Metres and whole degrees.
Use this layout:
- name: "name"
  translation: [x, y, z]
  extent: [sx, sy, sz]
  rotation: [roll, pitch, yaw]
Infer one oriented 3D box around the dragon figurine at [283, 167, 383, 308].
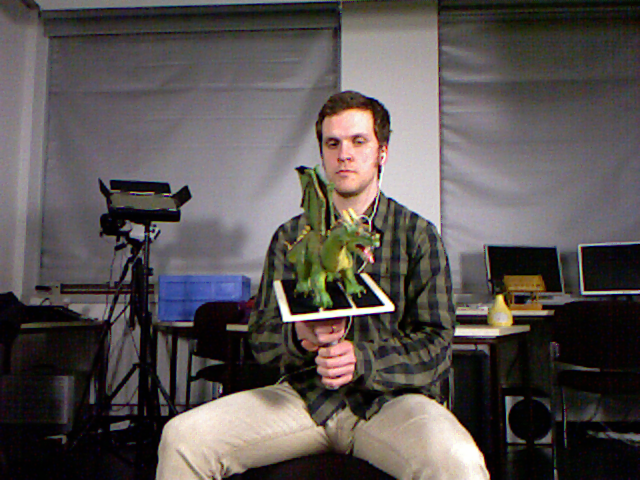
- name: "dragon figurine"
  translation: [-0.008, -0.021, 0.982]
  extent: [0.123, 0.240, 0.415]
  rotation: [-12, 20, -25]
